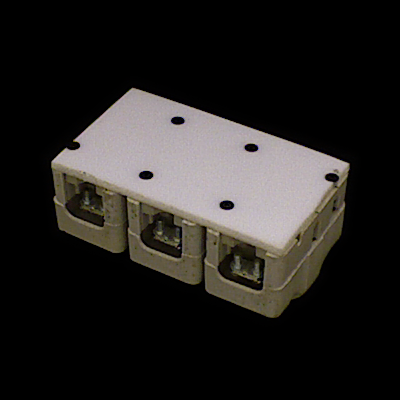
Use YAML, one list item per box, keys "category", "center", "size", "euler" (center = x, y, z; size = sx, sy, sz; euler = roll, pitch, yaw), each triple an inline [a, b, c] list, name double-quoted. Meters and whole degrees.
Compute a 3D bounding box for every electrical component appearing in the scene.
- category: "electrical component"
  center: [0.000, 0.000, 0.636]
  size: [0.149, 0.063, 0.088]
  euler: [21, 45, 22]
